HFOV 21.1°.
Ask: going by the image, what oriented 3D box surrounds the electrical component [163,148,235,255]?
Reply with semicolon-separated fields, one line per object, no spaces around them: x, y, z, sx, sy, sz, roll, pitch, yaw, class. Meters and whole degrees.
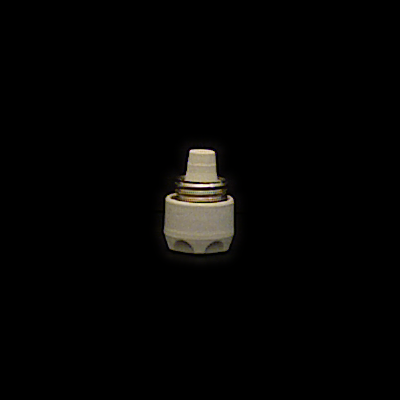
0.000;0.000;0.651;0.043;0.062;0.043;2;11;0;electrical component
